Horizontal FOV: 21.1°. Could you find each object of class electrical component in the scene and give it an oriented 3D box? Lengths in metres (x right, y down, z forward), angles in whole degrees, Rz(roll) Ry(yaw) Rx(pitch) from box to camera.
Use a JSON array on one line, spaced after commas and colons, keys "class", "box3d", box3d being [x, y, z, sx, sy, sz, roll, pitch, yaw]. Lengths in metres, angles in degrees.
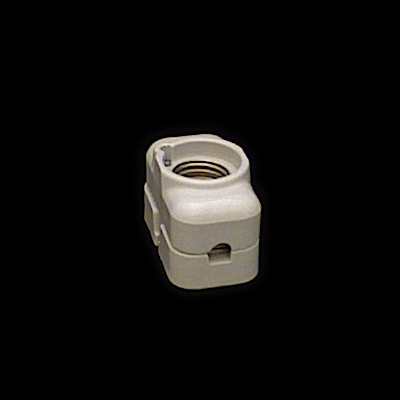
[{"class": "electrical component", "box3d": [0.000, 0.000, 0.641, 0.054, 0.060, 0.093, -7, 33, -13]}]
